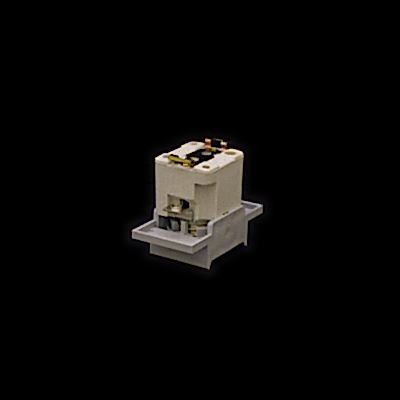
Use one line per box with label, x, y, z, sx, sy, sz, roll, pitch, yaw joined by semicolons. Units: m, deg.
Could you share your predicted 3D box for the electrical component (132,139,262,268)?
electrical component;0.000;0.000;0.637;0.042;0.064;0.080;14;24;29
